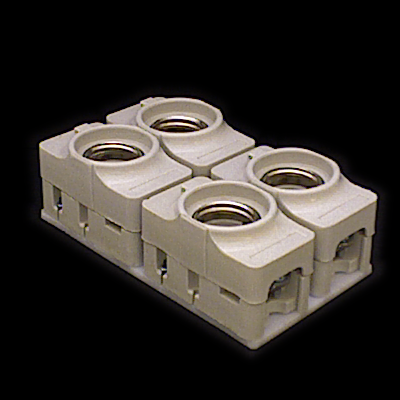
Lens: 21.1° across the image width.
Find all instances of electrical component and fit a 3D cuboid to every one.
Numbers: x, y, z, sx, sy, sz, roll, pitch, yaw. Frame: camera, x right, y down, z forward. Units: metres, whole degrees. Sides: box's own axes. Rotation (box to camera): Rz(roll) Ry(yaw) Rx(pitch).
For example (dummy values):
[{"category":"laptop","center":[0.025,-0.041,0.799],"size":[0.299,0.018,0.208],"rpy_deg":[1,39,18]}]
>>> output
[{"category":"electrical component","center":[0.000,0.000,0.633],"size":[0.105,0.061,0.184],"rpy_deg":[-27,41,-37]}]
